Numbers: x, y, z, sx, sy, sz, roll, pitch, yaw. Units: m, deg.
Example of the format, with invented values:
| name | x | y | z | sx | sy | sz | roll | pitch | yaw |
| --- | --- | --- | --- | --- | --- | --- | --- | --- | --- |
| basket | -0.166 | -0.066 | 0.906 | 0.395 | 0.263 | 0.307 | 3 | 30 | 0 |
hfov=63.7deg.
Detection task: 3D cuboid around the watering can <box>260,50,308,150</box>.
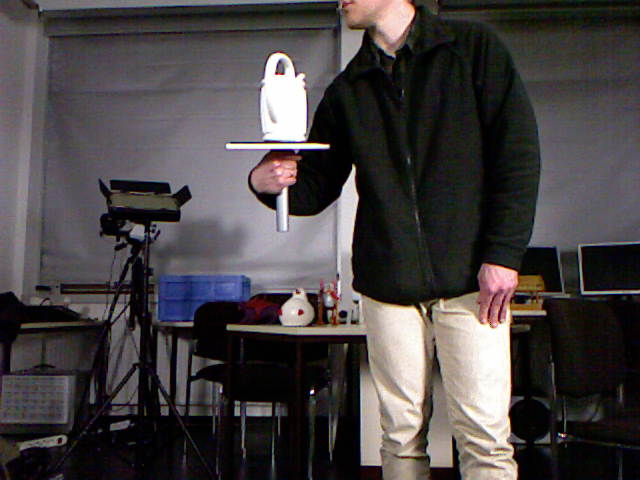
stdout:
| name | x | y | z | sx | sy | sz | roll | pitch | yaw |
| --- | --- | --- | --- | --- | --- | --- | --- | --- | --- |
| watering can | -0.075 | -0.334 | 1.250 | 0.104 | 0.223 | 0.352 | 4 | 12 | 11 |
